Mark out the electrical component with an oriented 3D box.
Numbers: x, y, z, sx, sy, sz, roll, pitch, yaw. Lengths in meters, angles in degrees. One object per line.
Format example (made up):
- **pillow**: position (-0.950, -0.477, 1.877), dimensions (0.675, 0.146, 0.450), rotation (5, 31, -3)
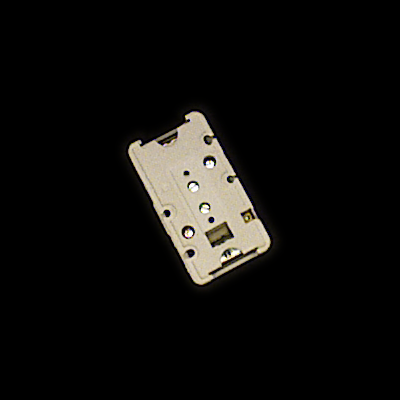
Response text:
- **electrical component**: position (0.000, 0.000, 0.637), dimensions (0.050, 0.089, 0.055), rotation (-28, -5, -3)
